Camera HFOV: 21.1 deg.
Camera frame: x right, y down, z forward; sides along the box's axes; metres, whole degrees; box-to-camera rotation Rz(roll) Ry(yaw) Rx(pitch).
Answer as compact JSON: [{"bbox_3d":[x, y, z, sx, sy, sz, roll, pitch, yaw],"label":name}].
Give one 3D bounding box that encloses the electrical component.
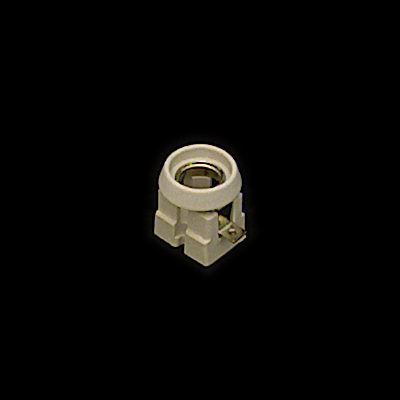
[{"bbox_3d":[0.000,0.000,0.640,0.066,0.056,0.048,30,52,28],"label":"electrical component"}]
